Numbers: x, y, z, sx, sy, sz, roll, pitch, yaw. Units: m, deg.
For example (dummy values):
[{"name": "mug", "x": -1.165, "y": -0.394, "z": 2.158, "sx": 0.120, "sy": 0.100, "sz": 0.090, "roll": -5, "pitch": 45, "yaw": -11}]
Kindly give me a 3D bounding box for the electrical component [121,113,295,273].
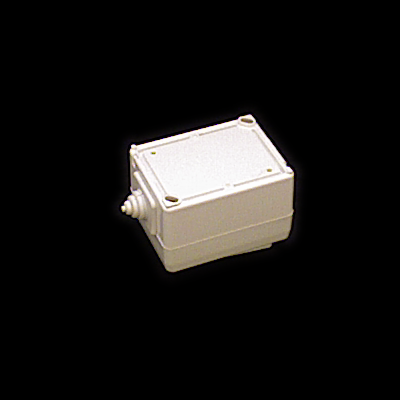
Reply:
[{"name": "electrical component", "x": 0.000, "y": 0.000, "z": 0.633, "sx": 0.096, "sy": 0.061, "sz": 0.061, "roll": -16, "pitch": 45, "yaw": -17}]
